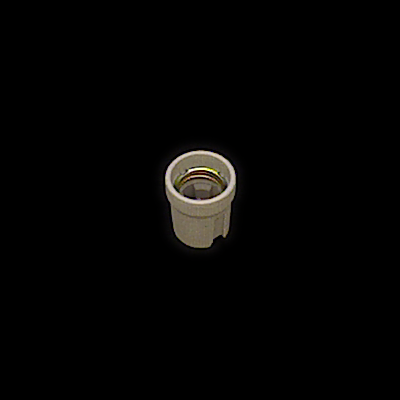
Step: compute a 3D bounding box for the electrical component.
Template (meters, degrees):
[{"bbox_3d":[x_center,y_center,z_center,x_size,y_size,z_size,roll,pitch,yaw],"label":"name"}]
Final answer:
[{"bbox_3d":[0.000,0.000,0.632,0.040,0.039,0.047,0,-38,-1],"label":"electrical component"}]
